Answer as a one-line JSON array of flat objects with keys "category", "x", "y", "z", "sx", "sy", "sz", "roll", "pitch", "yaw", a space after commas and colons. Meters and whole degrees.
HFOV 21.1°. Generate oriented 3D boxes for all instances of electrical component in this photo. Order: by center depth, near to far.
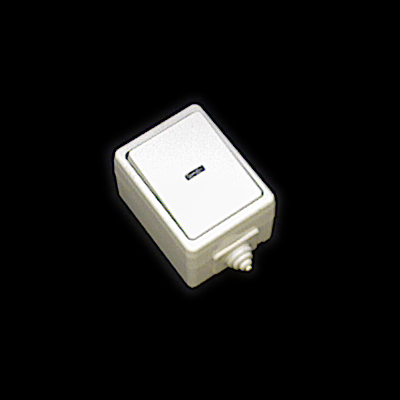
[{"category": "electrical component", "x": 0.000, "y": 0.000, "z": 0.625, "sx": 0.062, "sy": 0.096, "sz": 0.060, "roll": -32, "pitch": -23, "yaw": -15}]
